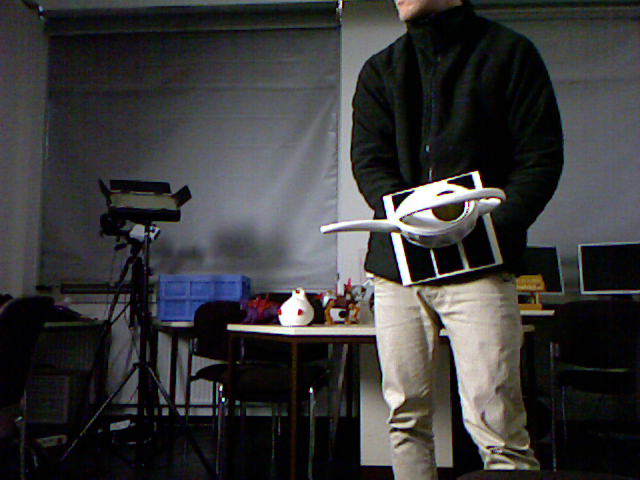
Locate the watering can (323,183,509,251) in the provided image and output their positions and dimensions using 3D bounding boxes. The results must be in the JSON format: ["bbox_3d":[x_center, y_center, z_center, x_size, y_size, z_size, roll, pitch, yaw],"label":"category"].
[{"bbox_3d":[0.191,-0.040,1.023,0.348,0.106,0.223,-12,-15,9],"label":"watering can"}]
